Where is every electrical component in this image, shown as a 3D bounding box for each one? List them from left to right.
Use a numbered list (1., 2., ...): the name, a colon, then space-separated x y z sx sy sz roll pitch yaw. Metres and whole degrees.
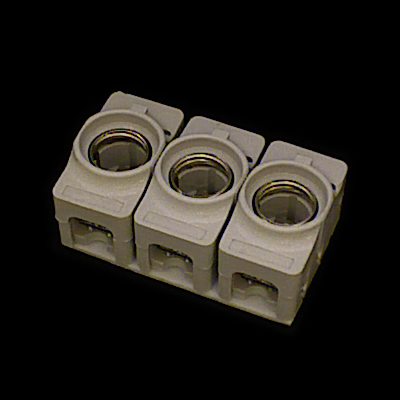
1. electrical component: 0.000 0.000 0.635 0.150 0.088 0.062 18 -36 13
